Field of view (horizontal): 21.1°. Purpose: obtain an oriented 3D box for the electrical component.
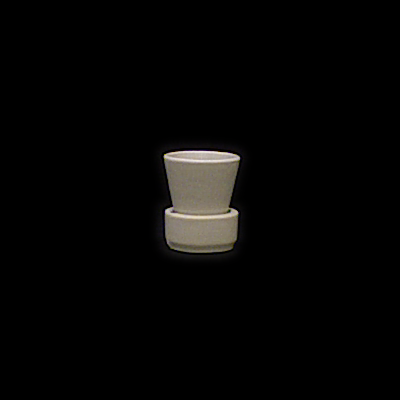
[{"bbox_3d":[0.000,0.000,0.645,0.045,0.055,0.044,1,11,0],"label":"electrical component"}]
